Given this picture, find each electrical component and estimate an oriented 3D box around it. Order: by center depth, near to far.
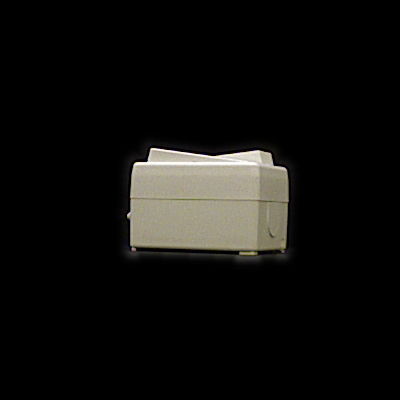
[{"bbox_3d":[0.000,0.000,0.651,0.096,0.061,0.062,2,0,22],"label":"electrical component"}]
